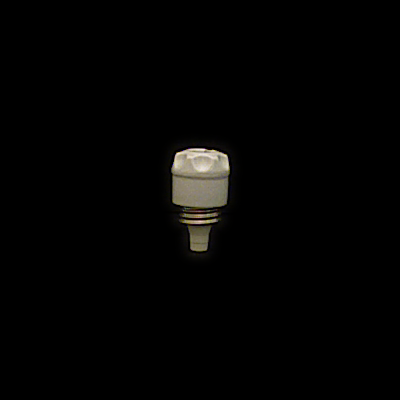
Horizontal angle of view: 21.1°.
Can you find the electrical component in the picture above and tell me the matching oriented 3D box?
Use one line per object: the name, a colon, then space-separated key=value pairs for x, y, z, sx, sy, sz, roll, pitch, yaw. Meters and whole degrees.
electrical component: x=0.000 y=0.000 z=0.652 sx=0.035 sy=0.062 sz=0.035 roll=1 pitch=12 yaw=0
